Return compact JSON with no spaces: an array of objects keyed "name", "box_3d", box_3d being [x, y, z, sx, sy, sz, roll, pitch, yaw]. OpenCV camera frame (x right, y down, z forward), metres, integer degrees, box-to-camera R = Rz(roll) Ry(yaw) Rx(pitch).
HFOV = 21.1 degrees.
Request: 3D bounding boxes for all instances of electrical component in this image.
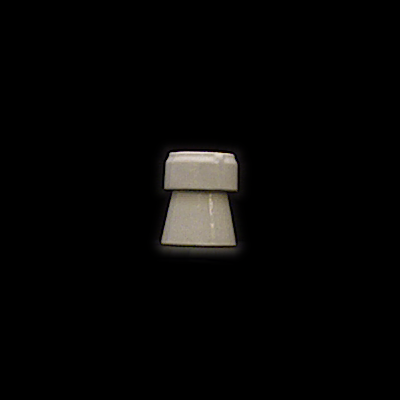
[{"name":"electrical component","box_3d":[0.000,0.000,0.651,0.045,0.055,0.045,2,1,0]}]
